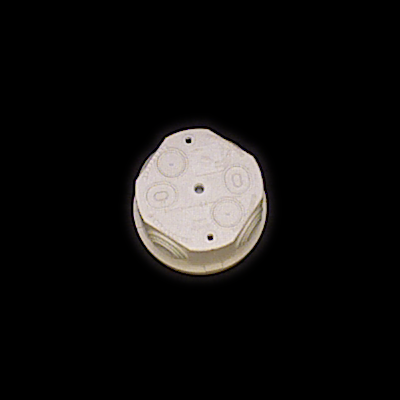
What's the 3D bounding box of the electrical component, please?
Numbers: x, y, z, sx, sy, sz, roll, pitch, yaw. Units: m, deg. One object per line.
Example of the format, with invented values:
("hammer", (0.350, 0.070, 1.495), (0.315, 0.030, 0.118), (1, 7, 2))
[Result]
("electrical component", (0.000, 0.000, 0.632), (0.080, 0.080, 0.050), (0, -18, 0))
